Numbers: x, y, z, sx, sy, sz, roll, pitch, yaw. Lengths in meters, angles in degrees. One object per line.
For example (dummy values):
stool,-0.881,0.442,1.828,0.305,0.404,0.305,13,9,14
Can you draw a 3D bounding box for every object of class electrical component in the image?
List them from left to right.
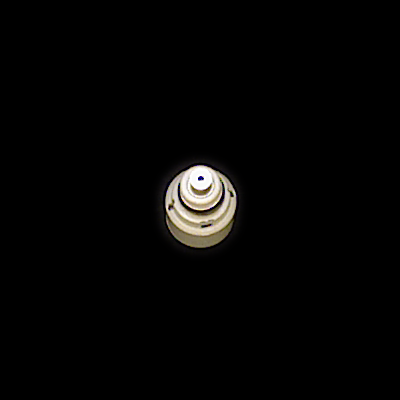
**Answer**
electrical component,0.000,0.000,0.617,0.040,0.040,0.078,0,-17,0
